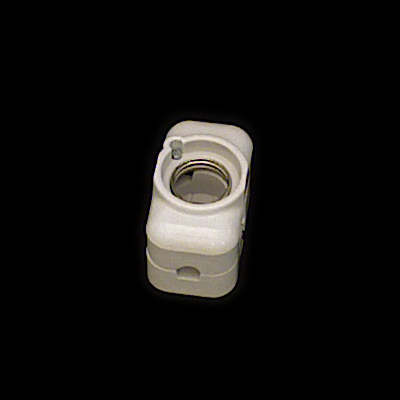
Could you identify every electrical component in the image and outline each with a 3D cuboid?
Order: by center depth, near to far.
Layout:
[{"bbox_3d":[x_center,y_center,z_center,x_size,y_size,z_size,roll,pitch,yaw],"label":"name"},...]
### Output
[{"bbox_3d":[0.000,0.000,0.635,0.053,0.095,0.059,6,-37,4],"label":"electrical component"}]
